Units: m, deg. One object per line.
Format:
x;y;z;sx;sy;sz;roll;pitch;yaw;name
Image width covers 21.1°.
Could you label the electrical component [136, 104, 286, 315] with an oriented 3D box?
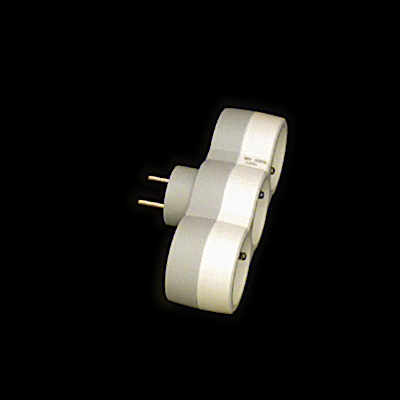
0.000;0.000;0.640;0.073;0.138;0.052;13;-36;11;electrical component
